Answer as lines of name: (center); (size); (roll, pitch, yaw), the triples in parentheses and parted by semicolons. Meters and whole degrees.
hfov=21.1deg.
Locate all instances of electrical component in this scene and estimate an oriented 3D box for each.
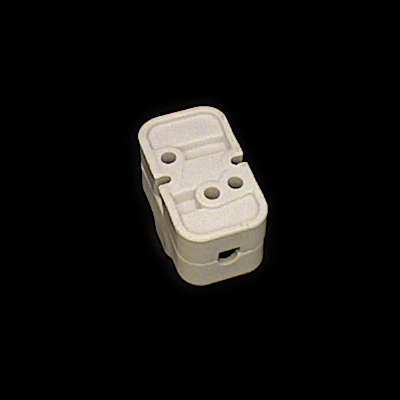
electrical component: (0.000, 0.000, 0.637); (0.054, 0.094, 0.059); (-16, -36, -12)
